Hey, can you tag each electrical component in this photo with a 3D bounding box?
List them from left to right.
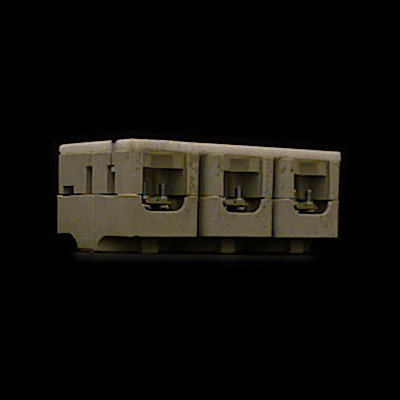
[{"bbox_3d":[0.000,0.000,0.653,0.150,0.062,0.089,1,-1,-34],"label":"electrical component"}]
